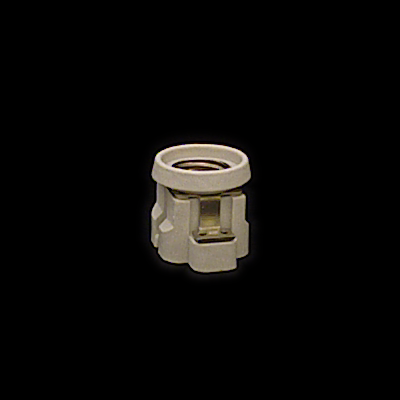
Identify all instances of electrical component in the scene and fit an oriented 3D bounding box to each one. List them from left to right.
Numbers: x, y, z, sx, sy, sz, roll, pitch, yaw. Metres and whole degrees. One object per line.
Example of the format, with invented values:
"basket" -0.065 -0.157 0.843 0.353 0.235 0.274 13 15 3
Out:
"electrical component" 0.000 0.000 0.638 0.058 0.057 0.077 -5 22 -14
